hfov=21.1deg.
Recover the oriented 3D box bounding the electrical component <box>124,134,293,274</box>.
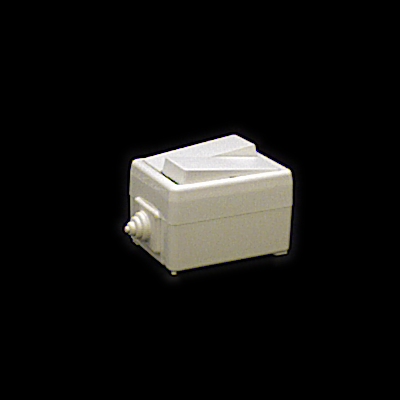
[{"bbox_3d":[0.000,0.000,0.638,0.096,0.061,0.061,-9,23,-26],"label":"electrical component"}]
